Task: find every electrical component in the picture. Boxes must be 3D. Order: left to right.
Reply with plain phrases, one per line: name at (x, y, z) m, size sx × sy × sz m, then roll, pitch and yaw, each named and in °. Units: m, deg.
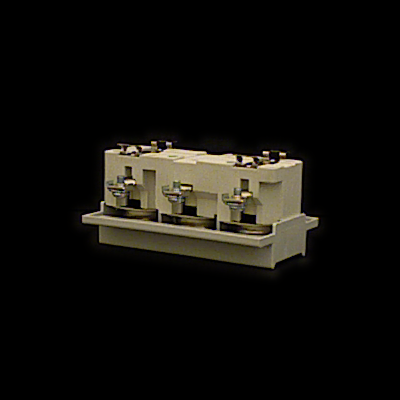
electrical component at (0.000, 0.000, 0.654) m, size 0.120 × 0.063 × 0.079 m, roll 7°, pitch 12°, yaw 29°
